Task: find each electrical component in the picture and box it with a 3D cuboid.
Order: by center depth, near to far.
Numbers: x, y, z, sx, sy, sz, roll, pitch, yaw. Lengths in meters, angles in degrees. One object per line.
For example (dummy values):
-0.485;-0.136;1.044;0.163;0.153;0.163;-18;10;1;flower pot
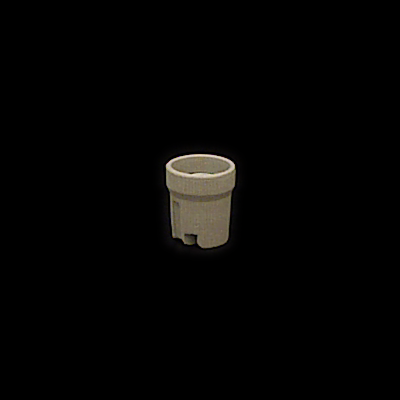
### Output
0.000;0.000;0.639;0.040;0.047;0.039;1;21;0;electrical component
